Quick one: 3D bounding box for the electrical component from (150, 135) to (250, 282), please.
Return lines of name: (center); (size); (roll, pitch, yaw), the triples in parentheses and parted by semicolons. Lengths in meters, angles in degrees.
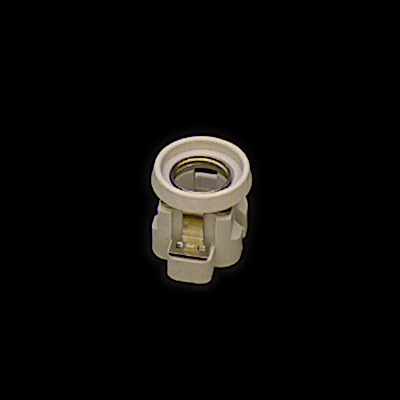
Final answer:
electrical component: (0.000, 0.000, 0.630); (0.058, 0.057, 0.078); (8, 43, 7)
